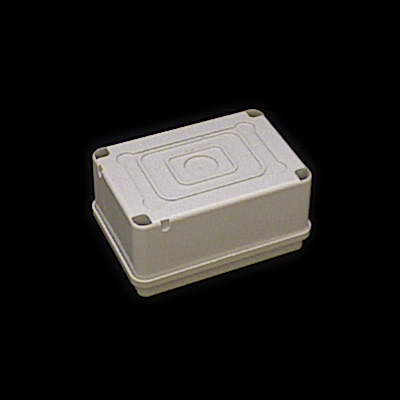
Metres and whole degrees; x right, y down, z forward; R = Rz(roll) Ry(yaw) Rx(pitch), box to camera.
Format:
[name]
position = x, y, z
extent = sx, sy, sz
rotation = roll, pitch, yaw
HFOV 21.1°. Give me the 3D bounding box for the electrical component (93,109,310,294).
[electrical component]
position = 0.000, 0.000, 0.632
extent = 0.113, 0.057, 0.077
rotation = -16, 44, -18
